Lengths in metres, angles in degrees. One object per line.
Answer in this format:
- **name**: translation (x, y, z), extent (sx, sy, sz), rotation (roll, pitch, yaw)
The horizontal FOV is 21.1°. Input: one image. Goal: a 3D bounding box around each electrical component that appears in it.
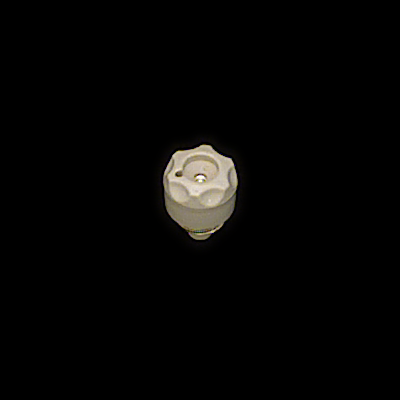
- **electrical component**: translation (0.000, 0.000, 0.636), extent (0.043, 0.043, 0.062), rotation (0, -38, -1)
